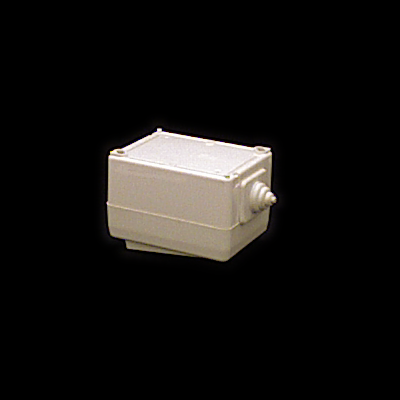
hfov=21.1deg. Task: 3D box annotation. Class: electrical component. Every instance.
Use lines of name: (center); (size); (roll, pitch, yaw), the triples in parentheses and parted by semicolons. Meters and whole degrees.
electrical component: (0.000, 0.000, 0.637); (0.096, 0.061, 0.061); (12, 23, 24)
